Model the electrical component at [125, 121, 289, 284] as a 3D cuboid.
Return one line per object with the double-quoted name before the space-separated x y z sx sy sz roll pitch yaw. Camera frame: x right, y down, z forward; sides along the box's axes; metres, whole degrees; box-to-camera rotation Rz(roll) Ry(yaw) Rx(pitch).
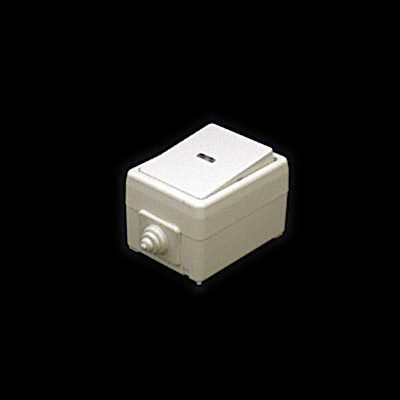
"electrical component" 0.000 0.000 0.633 0.061 0.061 0.096 26 39 35
